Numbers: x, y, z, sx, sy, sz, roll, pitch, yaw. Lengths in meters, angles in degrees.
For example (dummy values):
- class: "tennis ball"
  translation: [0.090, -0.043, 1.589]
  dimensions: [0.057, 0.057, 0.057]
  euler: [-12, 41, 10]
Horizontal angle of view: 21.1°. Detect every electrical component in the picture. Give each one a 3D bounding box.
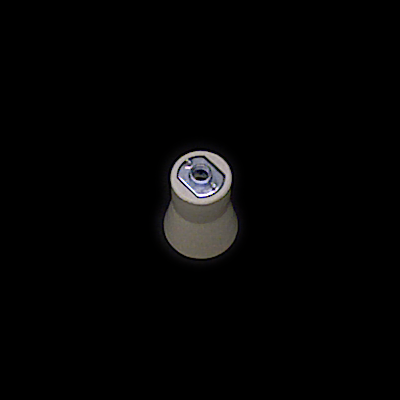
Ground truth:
- class: "electrical component"
  translation: [0.000, 0.000, 0.625]
  dimensions: [0.044, 0.044, 0.065]
  euler: [0, -28, -1]
